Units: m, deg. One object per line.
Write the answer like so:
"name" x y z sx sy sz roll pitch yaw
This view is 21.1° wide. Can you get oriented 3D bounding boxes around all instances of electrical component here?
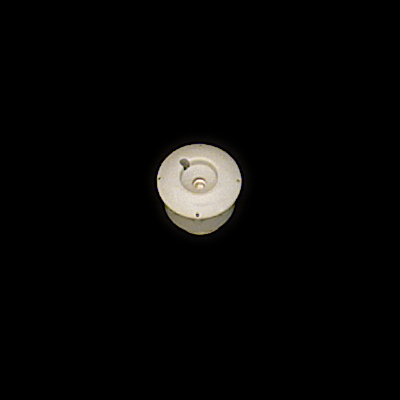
"electrical component" 0.000 0.000 0.633 0.048 0.048 0.062 0 -27 0
